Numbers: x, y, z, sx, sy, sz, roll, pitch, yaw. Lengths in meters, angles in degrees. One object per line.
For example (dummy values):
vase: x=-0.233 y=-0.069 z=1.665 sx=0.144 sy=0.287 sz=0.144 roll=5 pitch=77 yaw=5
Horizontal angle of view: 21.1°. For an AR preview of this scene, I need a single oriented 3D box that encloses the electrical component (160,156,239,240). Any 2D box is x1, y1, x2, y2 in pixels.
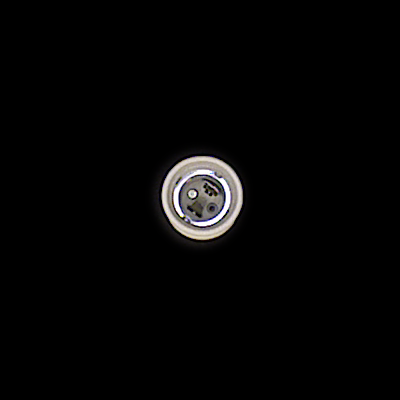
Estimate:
electrical component: x=0.000 y=0.000 z=0.629 sx=0.045 sy=0.045 sz=0.055 roll=0 pitch=-6 yaw=0
